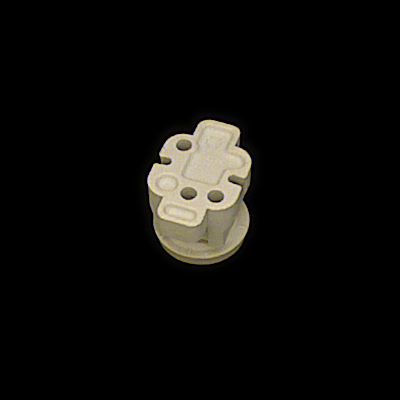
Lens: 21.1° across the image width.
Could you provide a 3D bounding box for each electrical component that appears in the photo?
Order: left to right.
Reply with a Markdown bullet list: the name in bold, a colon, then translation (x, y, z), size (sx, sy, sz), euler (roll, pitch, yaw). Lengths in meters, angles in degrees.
- **electrical component**: translation (0.000, 0.000, 0.638), size (0.057, 0.078, 0.057), euler (14, -37, 11)
